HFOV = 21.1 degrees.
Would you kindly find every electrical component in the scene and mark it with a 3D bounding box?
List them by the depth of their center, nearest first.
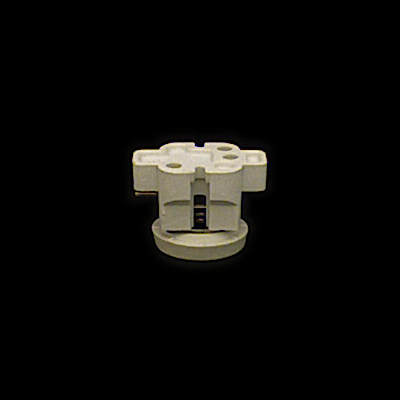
[{"bbox_3d":[0.000,0.000,0.645,0.078,0.057,0.057,-1,23,-2],"label":"electrical component"}]
